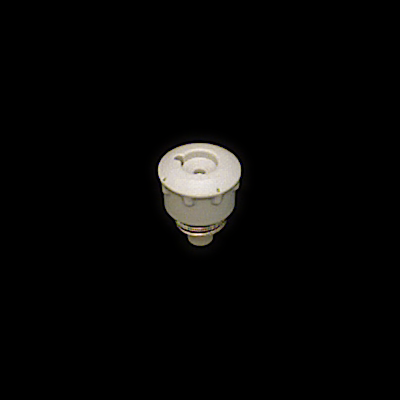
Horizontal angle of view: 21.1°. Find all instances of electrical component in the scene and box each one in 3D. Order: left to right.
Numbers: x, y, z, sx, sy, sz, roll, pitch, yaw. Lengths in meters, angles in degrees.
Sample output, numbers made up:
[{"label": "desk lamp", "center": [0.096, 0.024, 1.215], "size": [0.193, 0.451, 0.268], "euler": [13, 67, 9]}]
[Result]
[{"label": "electrical component", "center": [0.000, 0.000, 0.635], "size": [0.048, 0.062, 0.048], "euler": [1, 42, 0]}]
